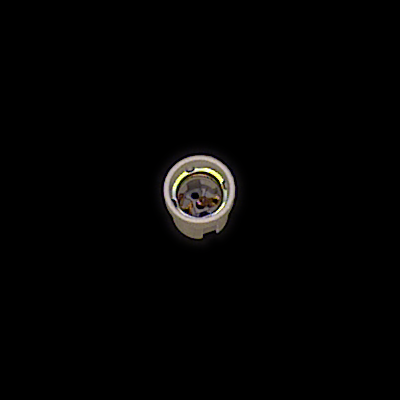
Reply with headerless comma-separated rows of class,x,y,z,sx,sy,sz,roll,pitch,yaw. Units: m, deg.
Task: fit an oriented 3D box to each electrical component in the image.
electrical component,0.000,0.000,0.628,0.040,0.040,0.046,0,-17,0
